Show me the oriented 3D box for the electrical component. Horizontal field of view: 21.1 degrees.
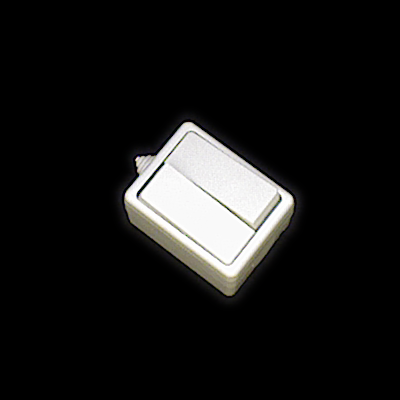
[{"bbox_3d":[0.000,0.000,0.626,0.096,0.062,0.060,37,-14,10],"label":"electrical component"}]
